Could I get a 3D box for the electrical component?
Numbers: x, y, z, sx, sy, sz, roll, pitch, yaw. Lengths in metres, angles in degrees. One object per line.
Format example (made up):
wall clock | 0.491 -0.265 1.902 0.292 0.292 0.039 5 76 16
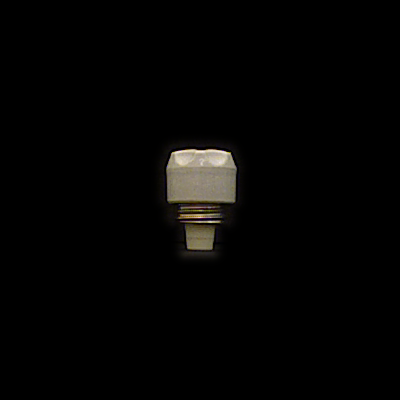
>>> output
electrical component | 0.000 0.000 0.658 0.043 0.062 0.043 1 1 1
